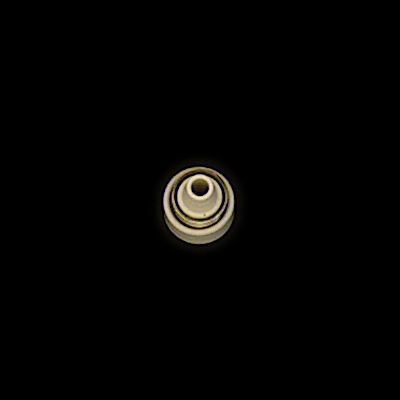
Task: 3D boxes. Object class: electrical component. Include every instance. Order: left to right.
[{"bbox_3d":[0.000,0.000,0.633,0.043,0.043,0.061,0,-15,-1],"label":"electrical component"}]
